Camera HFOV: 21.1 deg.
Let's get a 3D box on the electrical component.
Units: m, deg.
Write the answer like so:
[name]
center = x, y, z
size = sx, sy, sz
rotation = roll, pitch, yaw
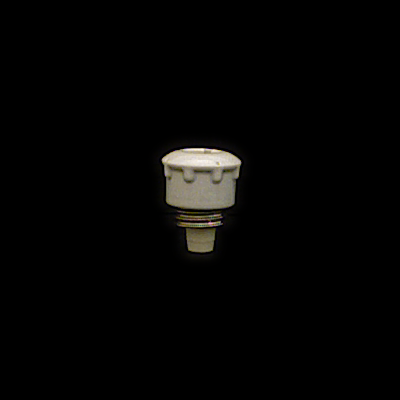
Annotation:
[electrical component]
center = 0.000, 0.000, 0.652
size = 0.048, 0.062, 0.048
rotation = 1, 11, 0
